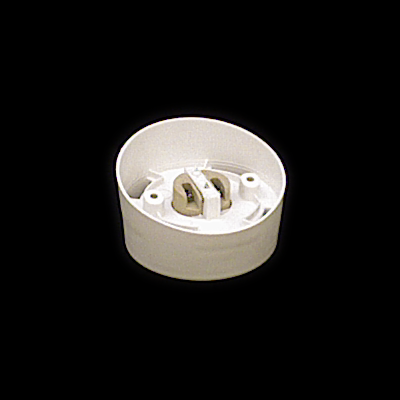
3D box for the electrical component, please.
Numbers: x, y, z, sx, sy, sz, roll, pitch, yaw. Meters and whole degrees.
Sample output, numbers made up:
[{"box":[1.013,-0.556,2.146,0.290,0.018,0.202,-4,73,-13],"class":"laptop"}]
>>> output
[{"box":[0.000,0.000,0.633,0.099,0.065,0.097,0,31,0],"class":"electrical component"}]
